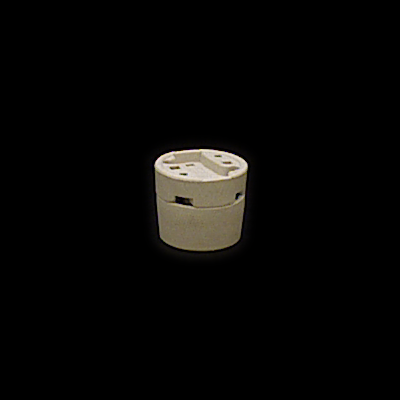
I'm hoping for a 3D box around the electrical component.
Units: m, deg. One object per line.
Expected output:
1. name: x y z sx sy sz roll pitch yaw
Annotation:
1. electrical component: 0.000 0.000 0.641 0.055 0.047 0.055 1 21 0
